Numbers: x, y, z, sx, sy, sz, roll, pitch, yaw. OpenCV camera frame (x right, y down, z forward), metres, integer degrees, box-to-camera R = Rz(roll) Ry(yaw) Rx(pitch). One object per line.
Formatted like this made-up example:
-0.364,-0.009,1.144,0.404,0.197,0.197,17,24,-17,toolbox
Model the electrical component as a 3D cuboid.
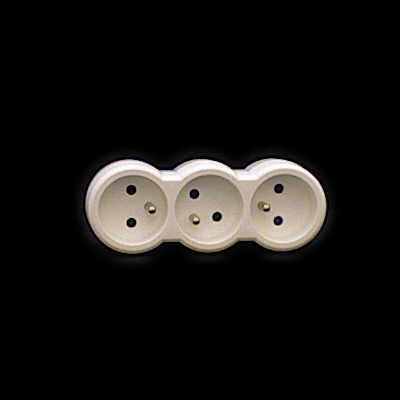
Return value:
0.000,0.000,0.644,0.138,0.052,0.073,-1,9,-9,electrical component
